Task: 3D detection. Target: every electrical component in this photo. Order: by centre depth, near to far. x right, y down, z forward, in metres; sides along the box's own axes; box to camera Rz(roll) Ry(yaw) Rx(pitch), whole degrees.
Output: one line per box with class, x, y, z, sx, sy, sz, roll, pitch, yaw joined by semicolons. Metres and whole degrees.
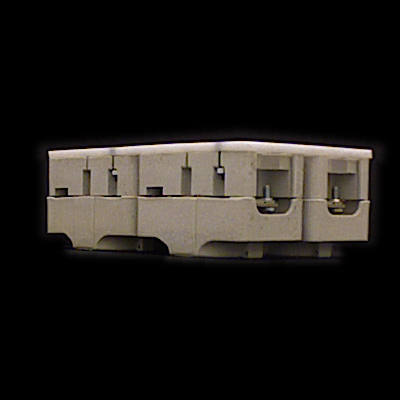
electrical component;0.000;0.000;0.649;0.106;0.060;0.186;2;-1;-40
